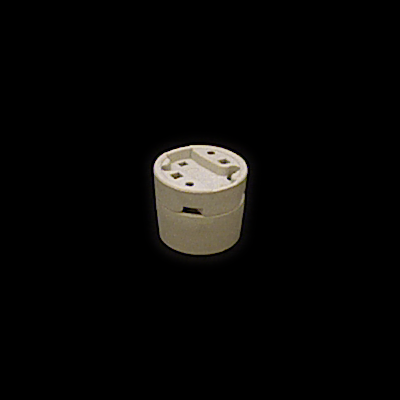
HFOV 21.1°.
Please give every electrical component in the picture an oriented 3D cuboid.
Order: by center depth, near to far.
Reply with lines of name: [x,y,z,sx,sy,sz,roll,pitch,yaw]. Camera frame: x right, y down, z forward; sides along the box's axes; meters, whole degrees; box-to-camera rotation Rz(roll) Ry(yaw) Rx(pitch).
electrical component: [0.000,0.000,0.638,0.055,0.047,0.055,1,31,0]
